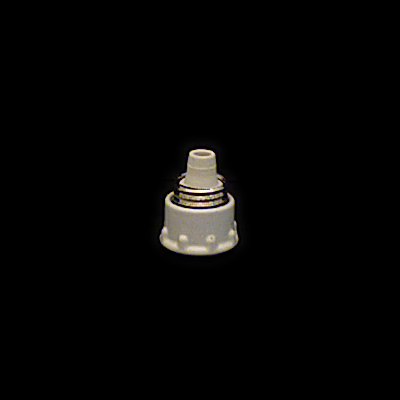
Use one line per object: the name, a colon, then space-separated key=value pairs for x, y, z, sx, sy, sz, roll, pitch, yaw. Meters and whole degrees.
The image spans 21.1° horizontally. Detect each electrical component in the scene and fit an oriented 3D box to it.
electrical component: x=0.000 y=0.000 z=0.646 sx=0.048 sy=0.063 sz=0.047 roll=2 pitch=23 yaw=0
